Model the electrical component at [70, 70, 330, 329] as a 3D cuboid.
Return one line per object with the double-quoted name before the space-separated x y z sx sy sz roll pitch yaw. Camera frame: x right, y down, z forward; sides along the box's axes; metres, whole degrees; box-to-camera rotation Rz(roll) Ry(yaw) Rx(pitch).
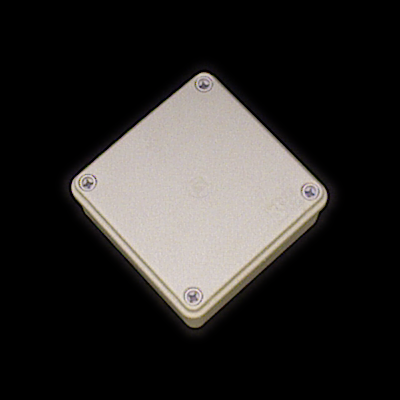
"electrical component" 0.000 0.000 0.629 0.109 0.109 0.056 -41 -13 -11
